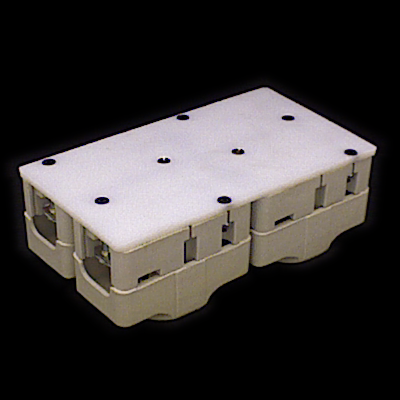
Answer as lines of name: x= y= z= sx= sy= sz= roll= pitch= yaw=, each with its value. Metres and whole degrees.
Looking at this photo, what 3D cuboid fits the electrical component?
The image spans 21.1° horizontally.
electrical component: x=0.000 y=0.000 z=0.633 sx=0.186 sy=0.061 sz=0.104 roll=-21 pitch=37 yaw=-32
